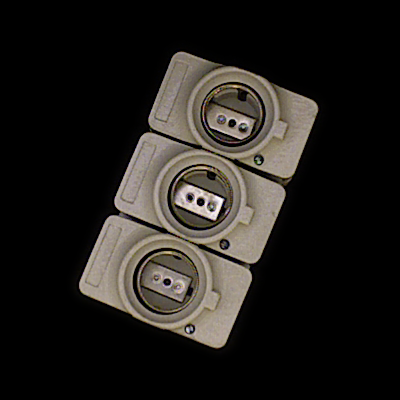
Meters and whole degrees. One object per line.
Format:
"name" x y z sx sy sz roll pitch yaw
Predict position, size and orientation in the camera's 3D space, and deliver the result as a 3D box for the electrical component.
"electrical component" 0.000 0.000 0.632 0.089 0.150 0.061 22 -5 2
